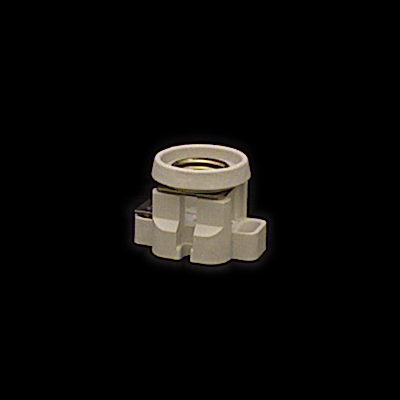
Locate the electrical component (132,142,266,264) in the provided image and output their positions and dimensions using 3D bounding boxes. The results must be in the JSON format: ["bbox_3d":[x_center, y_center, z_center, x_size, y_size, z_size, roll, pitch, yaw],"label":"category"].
[{"bbox_3d":[0.000,0.000,0.639,0.078,0.057,0.057,8,22,18],"label":"electrical component"}]
